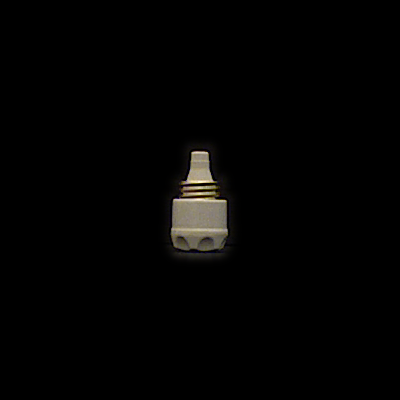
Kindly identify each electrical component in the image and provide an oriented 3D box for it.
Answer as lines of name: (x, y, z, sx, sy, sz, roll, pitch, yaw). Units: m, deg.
electrical component: (0.000, 0.000, 0.663, 0.035, 0.061, 0.035, 0, 3, 0)
